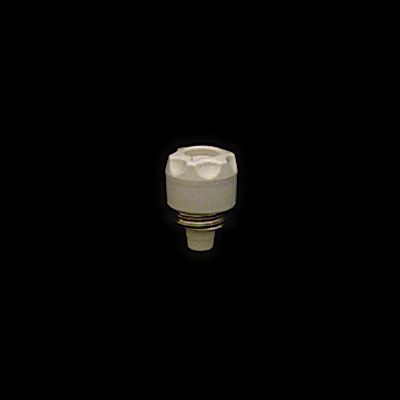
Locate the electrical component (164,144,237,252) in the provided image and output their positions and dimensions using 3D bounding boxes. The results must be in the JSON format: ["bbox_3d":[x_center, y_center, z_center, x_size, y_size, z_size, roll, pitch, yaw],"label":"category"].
[{"bbox_3d":[0.000,0.000,0.647,0.043,0.063,0.043,1,21,0],"label":"electrical component"}]
